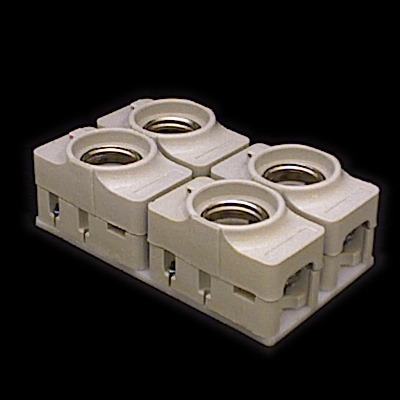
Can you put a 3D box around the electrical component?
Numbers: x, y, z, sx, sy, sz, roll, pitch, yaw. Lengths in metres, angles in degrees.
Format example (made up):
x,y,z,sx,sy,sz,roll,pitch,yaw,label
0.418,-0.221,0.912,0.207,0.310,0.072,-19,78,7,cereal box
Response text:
x,y,z,sx,sy,sz,roll,pitch,yaw,label
0.000,0.000,0.633,0.184,0.061,0.105,24,38,33,electrical component
